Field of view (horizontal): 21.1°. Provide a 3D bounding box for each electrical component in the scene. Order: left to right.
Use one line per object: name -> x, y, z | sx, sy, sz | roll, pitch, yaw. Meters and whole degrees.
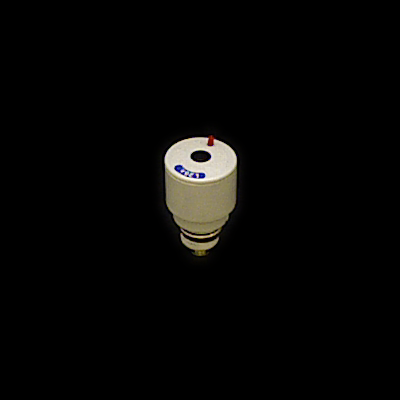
electrical component -> 0.000, 0.000, 0.626 | 0.040, 0.079, 0.039 | 1, 41, 0
